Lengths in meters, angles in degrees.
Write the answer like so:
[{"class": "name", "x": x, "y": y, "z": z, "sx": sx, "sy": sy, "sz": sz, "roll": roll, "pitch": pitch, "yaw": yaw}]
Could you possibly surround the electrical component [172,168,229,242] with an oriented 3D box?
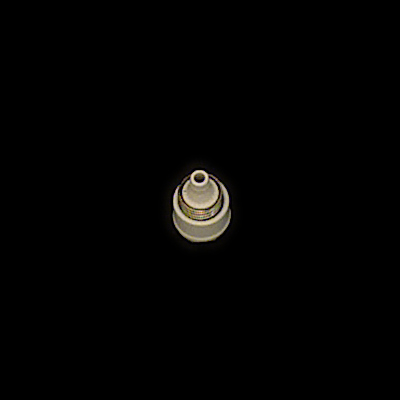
[{"class": "electrical component", "x": 0.000, "y": 0.000, "z": 0.637, "sx": 0.035, "sy": 0.035, "sz": 0.061, "roll": 0, "pitch": -26, "yaw": 2}]
